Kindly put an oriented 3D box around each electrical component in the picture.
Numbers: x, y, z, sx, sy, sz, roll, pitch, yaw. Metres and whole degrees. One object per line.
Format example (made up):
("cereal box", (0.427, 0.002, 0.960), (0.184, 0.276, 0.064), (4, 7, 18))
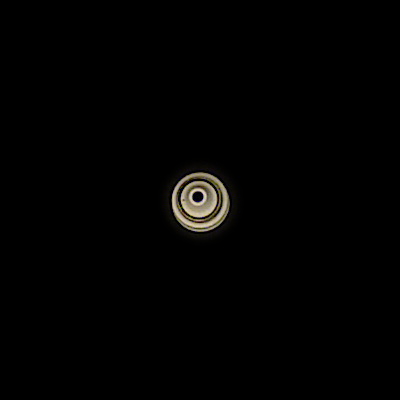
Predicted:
("electrical component", (0.000, 0.000, 0.637), (0.035, 0.035, 0.061), (0, -4, 2))
